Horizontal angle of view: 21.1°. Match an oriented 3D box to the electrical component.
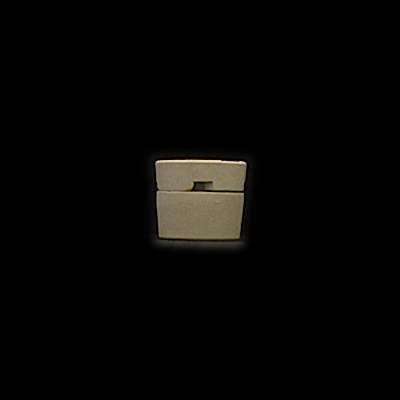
[{"bbox_3d":[0.000,0.000,0.650,0.055,0.047,0.055,2,1,0],"label":"electrical component"}]
